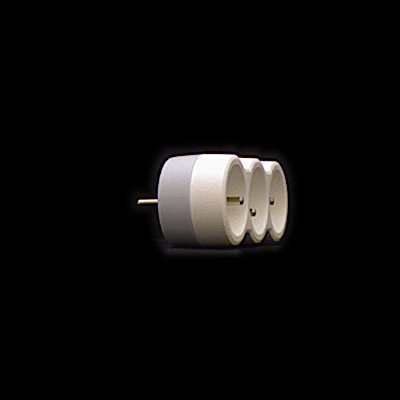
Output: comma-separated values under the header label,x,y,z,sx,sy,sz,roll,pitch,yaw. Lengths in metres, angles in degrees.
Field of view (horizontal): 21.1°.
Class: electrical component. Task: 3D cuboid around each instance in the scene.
label,x,y,z,sx,sy,sz,roll,pitch,yaw
electrical component,0.000,0.000,0.647,0.073,0.052,0.138,-1,0,19
